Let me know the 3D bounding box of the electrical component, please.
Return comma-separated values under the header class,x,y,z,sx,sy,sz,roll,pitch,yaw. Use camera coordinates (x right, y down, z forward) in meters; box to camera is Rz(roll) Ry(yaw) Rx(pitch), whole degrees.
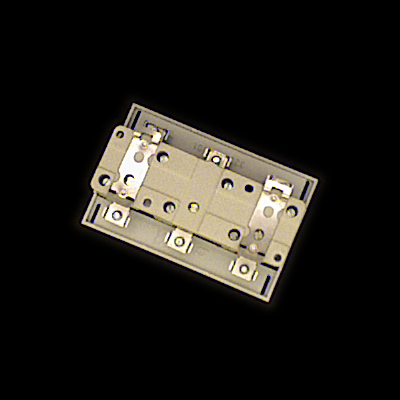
class,x,y,z,sx,sy,sz,roll,pitch,yaw
electrical component,0.000,0.000,0.635,0.121,0.079,0.063,22,-6,2
